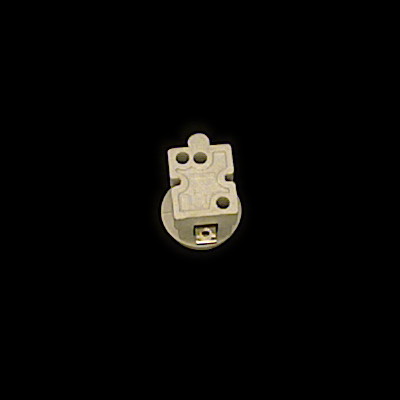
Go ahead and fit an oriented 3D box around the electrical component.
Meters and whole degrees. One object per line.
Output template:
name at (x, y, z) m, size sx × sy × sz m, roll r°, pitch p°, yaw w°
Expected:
electrical component at (0.000, 0.000, 0.637) m, size 0.048 × 0.066 × 0.055 m, roll -4°, pitch -26°, yaw -3°
